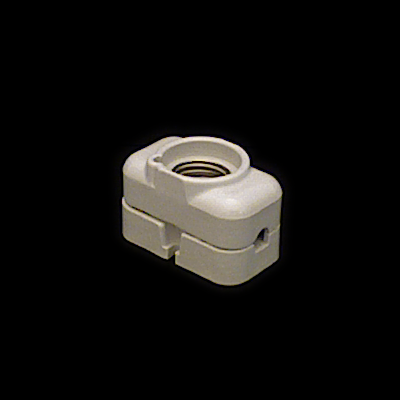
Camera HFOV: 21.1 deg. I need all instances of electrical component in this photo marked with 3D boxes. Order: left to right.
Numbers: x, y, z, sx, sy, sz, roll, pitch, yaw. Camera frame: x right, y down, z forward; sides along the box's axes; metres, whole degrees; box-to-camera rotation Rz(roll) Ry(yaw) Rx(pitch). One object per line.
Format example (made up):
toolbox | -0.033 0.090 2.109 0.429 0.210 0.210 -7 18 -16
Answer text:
electrical component | 0.000 0.000 0.640 0.094 0.060 0.054 24 39 32
